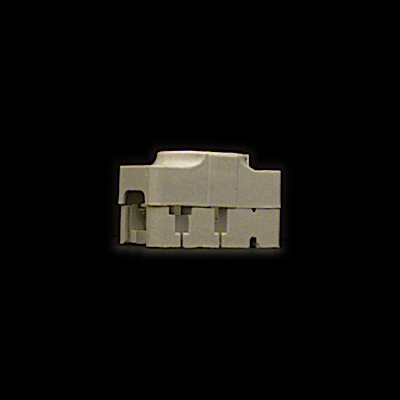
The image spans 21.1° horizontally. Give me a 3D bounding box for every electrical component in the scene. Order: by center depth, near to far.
[{"bbox_3d":[0.000,0.000,0.656,0.090,0.056,0.050,1,2,-31],"label":"electrical component"}]
